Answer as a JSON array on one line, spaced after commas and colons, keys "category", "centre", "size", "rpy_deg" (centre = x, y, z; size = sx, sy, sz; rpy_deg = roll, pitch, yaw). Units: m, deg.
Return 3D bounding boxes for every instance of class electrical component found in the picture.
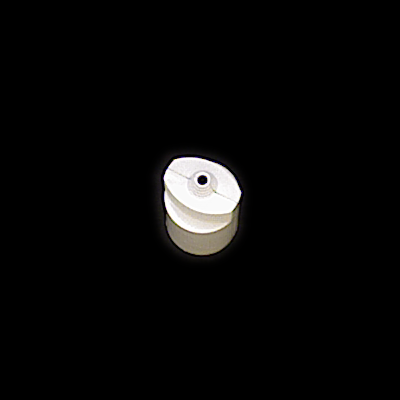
[{"category": "electrical component", "centre": [0.000, 0.000, 0.616], "size": [0.043, 0.043, 0.080], "rpy_deg": [0, -17, 0]}]
